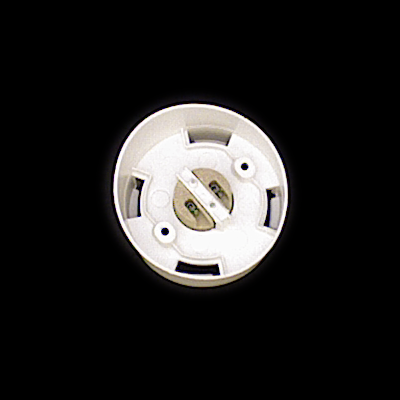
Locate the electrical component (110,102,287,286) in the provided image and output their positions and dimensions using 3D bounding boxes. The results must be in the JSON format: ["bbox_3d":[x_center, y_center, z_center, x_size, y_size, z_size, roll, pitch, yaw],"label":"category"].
[{"bbox_3d":[0.000,0.000,0.623,0.099,0.099,0.064,0,-17,1],"label":"electrical component"}]
